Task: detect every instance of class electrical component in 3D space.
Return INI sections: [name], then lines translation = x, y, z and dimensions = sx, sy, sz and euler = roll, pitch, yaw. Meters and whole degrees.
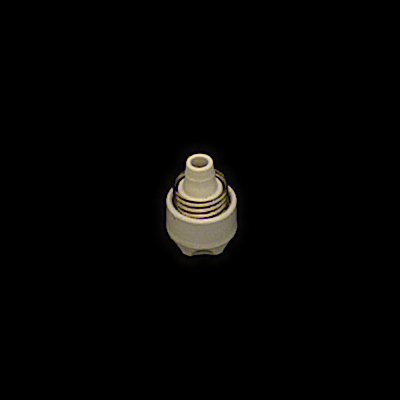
[electrical component]
translation = 0.000, 0.000, 0.638
dimensions = 0.043, 0.062, 0.043
euler = 0, 42, 1
